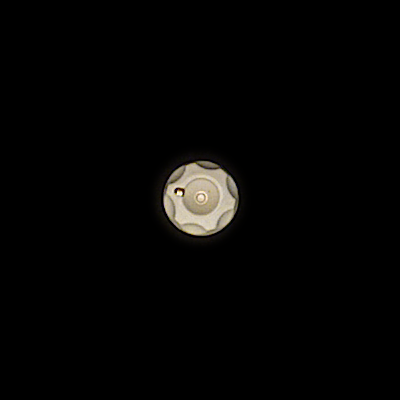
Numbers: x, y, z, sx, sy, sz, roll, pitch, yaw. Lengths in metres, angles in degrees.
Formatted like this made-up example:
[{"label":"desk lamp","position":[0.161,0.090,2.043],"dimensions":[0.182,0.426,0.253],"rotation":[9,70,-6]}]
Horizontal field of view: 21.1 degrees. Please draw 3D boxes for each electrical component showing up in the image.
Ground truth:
[{"label":"electrical component","position":[0.000,0.000,0.635],"dimensions":[0.043,0.043,0.062],"rotation":[0,-5,0]}]
